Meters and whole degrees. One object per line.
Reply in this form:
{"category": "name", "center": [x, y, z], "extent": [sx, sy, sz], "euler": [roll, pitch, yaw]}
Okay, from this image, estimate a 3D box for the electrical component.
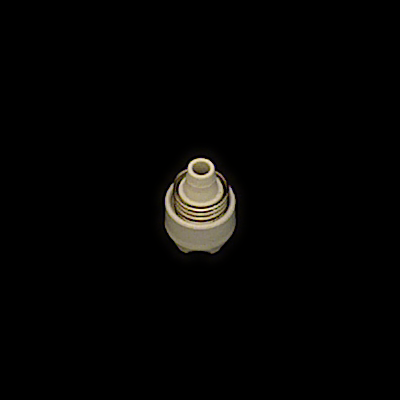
{"category": "electrical component", "center": [0.000, 0.000, 0.636], "extent": [0.043, 0.043, 0.062], "euler": [0, -38, -1]}
